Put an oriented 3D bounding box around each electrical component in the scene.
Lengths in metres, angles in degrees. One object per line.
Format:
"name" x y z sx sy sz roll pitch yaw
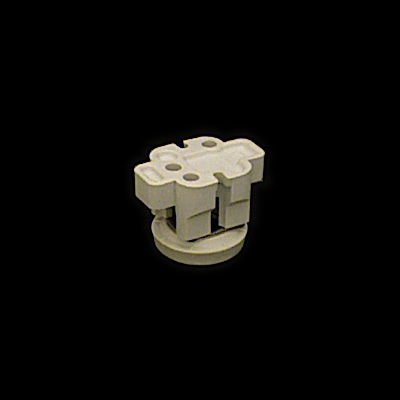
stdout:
"electrical component" 0.000 0.000 0.644 0.079 0.057 0.057 -16 35 -28
